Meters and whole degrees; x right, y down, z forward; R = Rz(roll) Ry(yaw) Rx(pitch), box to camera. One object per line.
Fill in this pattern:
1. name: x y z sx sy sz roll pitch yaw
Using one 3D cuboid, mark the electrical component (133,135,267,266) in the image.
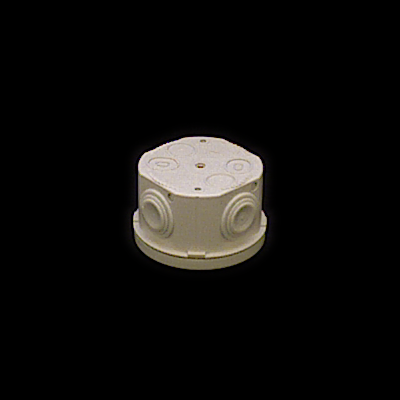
1. electrical component: 0.000 0.000 0.638 0.080 0.051 0.079 1 31 0
